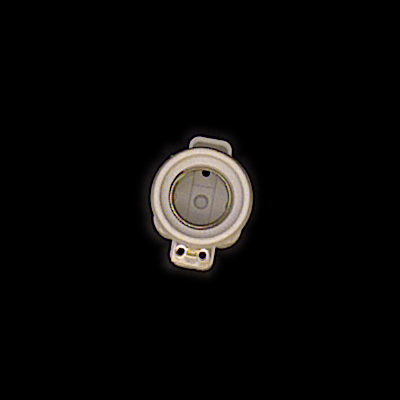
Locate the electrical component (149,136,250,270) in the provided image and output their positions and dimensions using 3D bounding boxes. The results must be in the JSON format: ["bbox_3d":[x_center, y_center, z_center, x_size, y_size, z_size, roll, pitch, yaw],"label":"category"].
[{"bbox_3d":[0.000,0.000,0.629,0.058,0.079,0.056,10,-6,1],"label":"electrical component"}]
